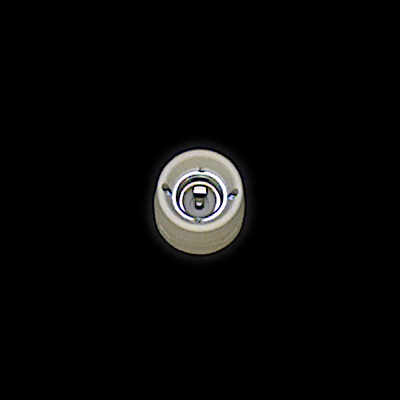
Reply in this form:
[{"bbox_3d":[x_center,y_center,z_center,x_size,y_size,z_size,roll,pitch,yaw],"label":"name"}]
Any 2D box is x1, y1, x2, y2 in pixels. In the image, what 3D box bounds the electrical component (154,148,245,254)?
[{"bbox_3d":[0.000,0.000,0.633,0.055,0.056,0.047,0,-16,-1],"label":"electrical component"}]
